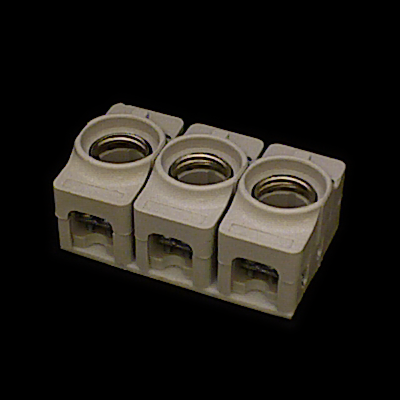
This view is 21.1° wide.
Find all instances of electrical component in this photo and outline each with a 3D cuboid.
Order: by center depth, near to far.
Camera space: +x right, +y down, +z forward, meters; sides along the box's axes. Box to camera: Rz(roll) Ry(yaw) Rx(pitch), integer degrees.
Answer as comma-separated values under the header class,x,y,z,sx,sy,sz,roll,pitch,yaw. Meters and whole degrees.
class,x,y,z,sx,sy,sz,roll,pitch,yaw
electrical component,0.000,0.000,0.638,0.149,0.063,0.088,16,43,15
